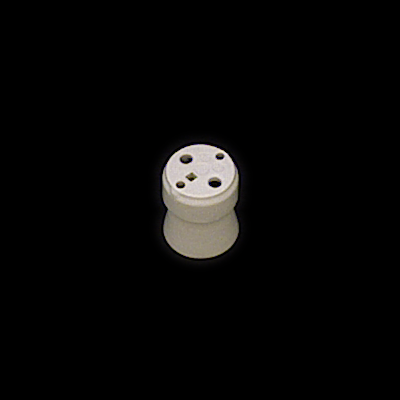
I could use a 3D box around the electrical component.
[{"bbox_3d":[0.000,0.000,0.630,0.045,0.044,0.055,0,-38,0],"label":"electrical component"}]
